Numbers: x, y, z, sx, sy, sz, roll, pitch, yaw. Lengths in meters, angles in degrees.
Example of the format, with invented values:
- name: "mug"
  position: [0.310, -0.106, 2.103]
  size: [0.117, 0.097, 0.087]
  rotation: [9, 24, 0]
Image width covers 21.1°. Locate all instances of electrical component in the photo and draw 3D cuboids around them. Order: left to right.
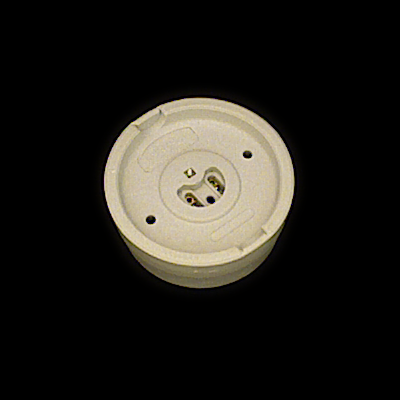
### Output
- name: "electrical component"
  position: [0.000, 0.000, 0.634]
  size: [0.108, 0.108, 0.060]
  rotation: [0, -26, -1]
